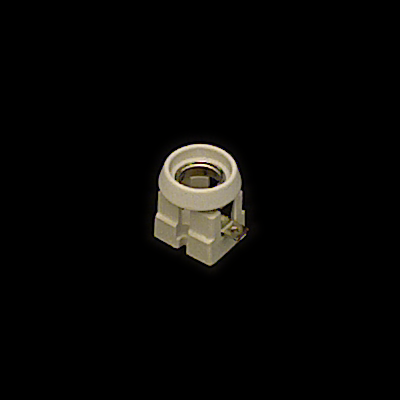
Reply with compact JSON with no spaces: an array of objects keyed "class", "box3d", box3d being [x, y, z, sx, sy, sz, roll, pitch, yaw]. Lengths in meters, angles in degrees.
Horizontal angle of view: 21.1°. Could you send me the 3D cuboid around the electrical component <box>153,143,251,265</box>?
[{"class":"electrical component","box3d":[0.000,0.000,0.640,0.066,0.056,0.048,26,50,25]}]
